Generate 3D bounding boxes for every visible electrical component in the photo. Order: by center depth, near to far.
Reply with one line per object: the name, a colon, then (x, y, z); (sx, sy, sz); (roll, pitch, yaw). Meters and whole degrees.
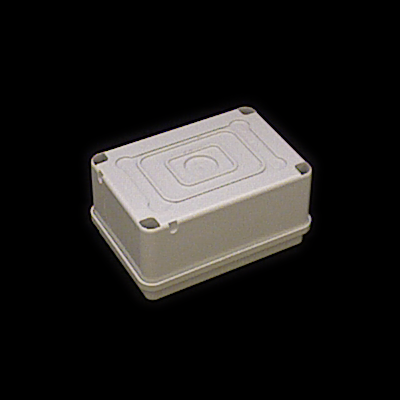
electrical component: (0.000, 0.000, 0.632); (0.113, 0.057, 0.077); (-19, 45, -22)
